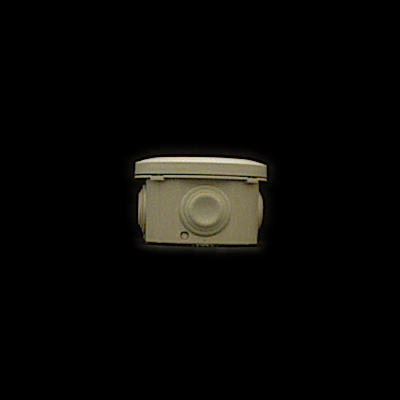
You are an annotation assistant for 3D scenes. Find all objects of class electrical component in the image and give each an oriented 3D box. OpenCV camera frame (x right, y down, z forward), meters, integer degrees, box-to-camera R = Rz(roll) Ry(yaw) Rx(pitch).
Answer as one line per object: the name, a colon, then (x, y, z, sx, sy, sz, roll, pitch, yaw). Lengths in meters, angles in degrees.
electrical component: (0.000, 0.000, 0.651, 0.080, 0.051, 0.080, 1, 0, 0)
